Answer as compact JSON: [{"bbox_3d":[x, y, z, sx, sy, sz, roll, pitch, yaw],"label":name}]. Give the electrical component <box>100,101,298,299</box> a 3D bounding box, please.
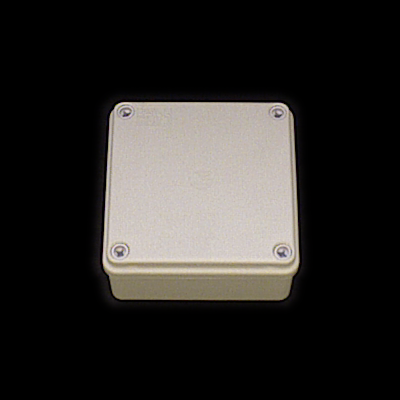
[{"bbox_3d":[0.000,0.000,0.628,0.109,0.109,0.056,0,-27,0],"label":"electrical component"}]
